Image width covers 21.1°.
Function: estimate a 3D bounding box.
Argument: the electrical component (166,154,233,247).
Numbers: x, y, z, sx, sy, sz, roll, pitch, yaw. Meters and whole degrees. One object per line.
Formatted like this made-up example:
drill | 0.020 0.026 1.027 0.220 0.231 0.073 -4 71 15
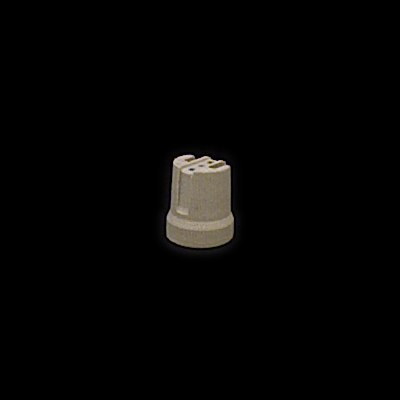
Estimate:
electrical component | 0.000 0.000 0.642 0.040 0.046 0.040 1 22 0
